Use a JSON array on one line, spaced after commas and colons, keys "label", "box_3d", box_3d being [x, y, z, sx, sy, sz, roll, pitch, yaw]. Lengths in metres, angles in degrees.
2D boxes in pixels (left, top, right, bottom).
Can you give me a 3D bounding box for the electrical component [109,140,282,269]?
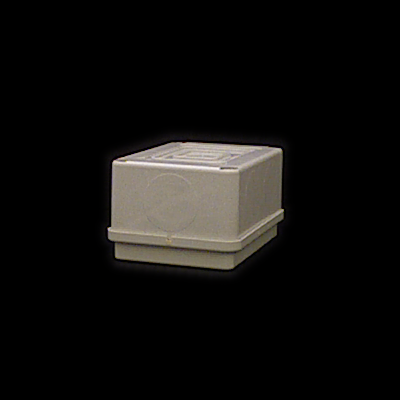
[{"label": "electrical component", "box_3d": [0.000, 0.000, 0.644, 0.078, 0.057, 0.112, 5, 11, 17]}]
